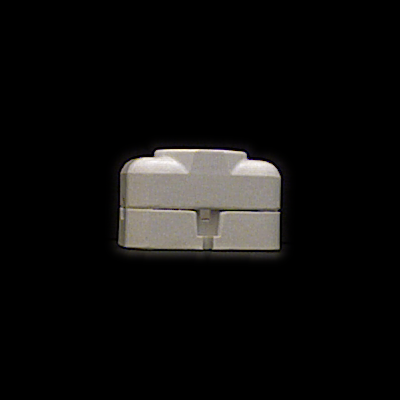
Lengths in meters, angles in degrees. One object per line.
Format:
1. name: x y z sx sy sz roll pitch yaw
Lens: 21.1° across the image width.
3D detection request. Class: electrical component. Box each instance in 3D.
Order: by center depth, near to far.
1. electrical component: 0.000 0.000 0.658 0.096 0.059 0.053 2 2 -14
